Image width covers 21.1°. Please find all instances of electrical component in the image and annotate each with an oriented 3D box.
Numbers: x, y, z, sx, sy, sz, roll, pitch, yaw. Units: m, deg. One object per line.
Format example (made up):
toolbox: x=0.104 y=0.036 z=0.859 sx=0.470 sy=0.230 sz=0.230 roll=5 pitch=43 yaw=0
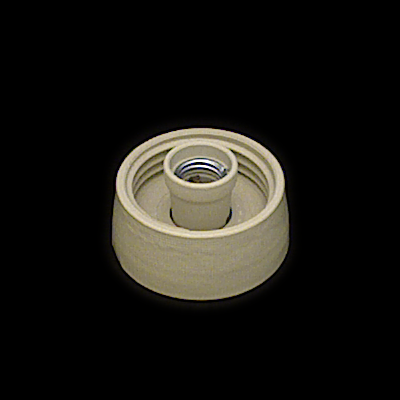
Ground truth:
electrical component: x=0.000 y=0.000 z=0.637 sx=0.108 sy=0.061 sz=0.107 roll=1 pitch=43 yaw=0
